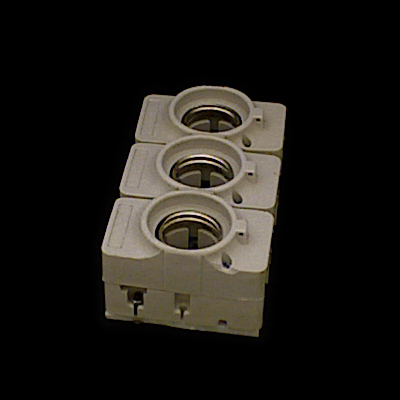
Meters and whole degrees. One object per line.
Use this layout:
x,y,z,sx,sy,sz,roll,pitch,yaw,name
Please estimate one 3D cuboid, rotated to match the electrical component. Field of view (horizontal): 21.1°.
0.000,0.000,0.637,0.089,0.063,0.147,6,42,5,electrical component
